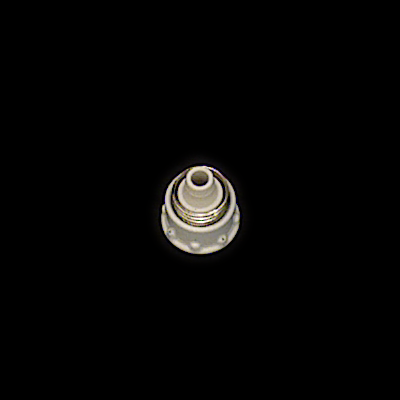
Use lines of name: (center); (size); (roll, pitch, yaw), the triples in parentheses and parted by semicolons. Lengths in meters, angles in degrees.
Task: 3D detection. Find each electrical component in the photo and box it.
electrical component: (0.000, 0.000, 0.633); (0.048, 0.048, 0.062); (0, -25, 1)
